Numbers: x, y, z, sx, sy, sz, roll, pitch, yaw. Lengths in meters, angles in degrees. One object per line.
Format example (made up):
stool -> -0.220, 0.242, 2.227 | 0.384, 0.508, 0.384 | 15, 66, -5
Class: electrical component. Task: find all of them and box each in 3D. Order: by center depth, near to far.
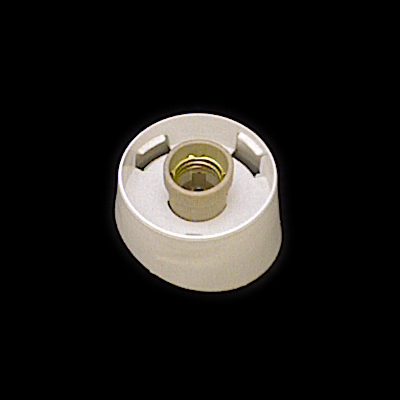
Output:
electrical component -> 0.000, 0.000, 0.626 | 0.099, 0.098, 0.064 | 0, -37, -1
